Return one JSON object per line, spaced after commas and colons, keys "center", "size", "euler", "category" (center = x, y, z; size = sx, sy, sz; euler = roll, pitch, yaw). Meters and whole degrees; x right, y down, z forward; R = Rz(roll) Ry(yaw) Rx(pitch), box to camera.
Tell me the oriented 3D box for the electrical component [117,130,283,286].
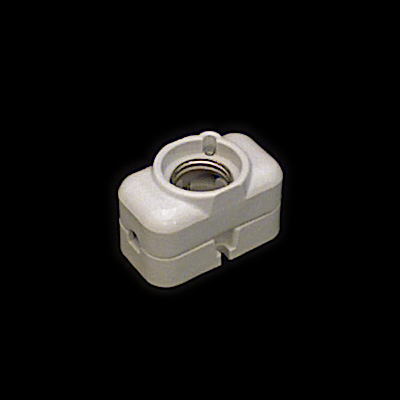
{"center": [0.000, 0.000, 0.639], "size": [0.095, 0.060, 0.053], "euler": [-25, 49, -26], "category": "electrical component"}
